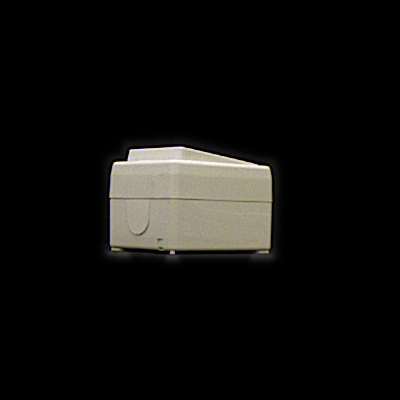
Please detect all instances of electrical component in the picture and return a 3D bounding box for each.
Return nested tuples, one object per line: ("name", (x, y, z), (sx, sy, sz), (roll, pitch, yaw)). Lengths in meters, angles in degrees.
("electrical component", (0.000, 0.000, 0.651), (0.096, 0.061, 0.061), (1, 0, -41))
